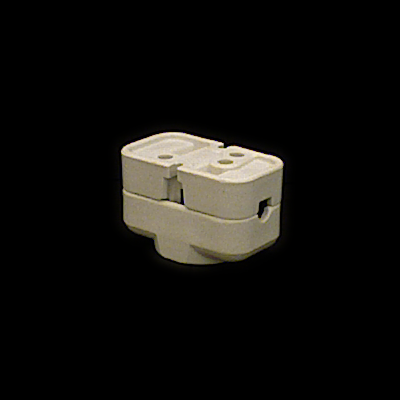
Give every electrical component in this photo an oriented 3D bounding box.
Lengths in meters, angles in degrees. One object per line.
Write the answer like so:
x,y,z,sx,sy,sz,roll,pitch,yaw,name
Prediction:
0.000,0.000,0.648,0.094,0.060,0.054,16,26,34,electrical component
